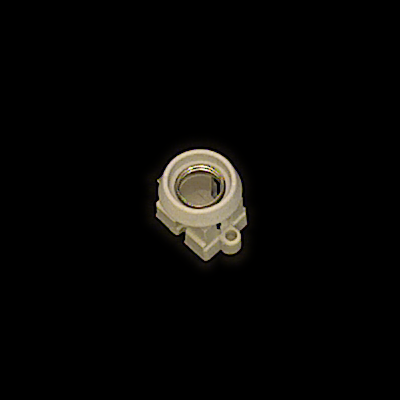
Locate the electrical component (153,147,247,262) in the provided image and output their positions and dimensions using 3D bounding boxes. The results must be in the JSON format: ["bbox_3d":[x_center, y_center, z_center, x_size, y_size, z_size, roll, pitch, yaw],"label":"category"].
[{"bbox_3d":[0.000,0.000,0.637,0.066,0.049,0.055,40,-21,18],"label":"electrical component"}]
